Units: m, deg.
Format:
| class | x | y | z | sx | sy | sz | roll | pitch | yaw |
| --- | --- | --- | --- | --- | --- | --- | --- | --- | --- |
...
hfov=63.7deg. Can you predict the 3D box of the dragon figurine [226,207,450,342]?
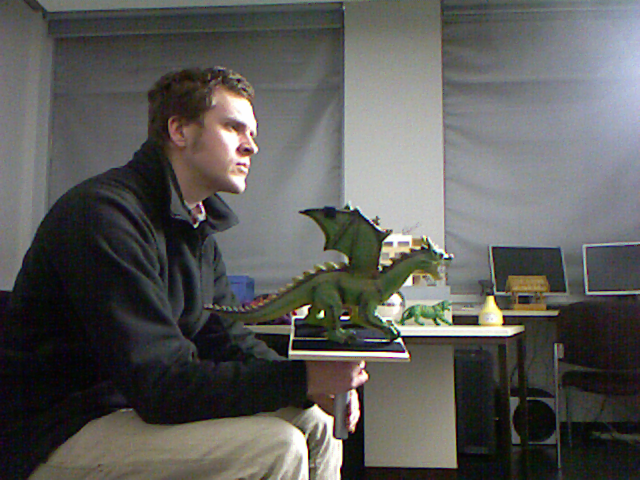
| class | x | y | z | sx | sy | sz | roll | pitch | yaw |
| --- | --- | --- | --- | --- | --- | --- | --- | --- | --- |
| dragon figurine | 0.029 | 0.056 | 0.932 | 0.411 | 0.240 | 0.124 | 2 | 15 | 1 |
